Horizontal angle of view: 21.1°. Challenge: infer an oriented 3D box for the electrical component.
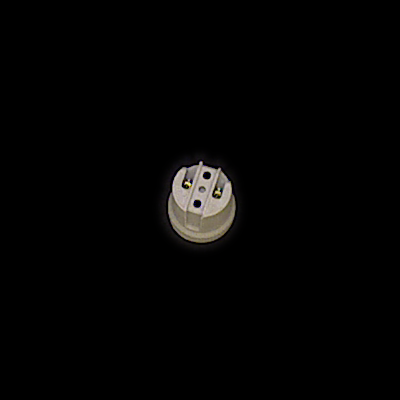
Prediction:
[{"bbox_3d":[0.000,0.000,0.633,0.040,0.040,0.046,0,-16,0],"label":"electrical component"}]
